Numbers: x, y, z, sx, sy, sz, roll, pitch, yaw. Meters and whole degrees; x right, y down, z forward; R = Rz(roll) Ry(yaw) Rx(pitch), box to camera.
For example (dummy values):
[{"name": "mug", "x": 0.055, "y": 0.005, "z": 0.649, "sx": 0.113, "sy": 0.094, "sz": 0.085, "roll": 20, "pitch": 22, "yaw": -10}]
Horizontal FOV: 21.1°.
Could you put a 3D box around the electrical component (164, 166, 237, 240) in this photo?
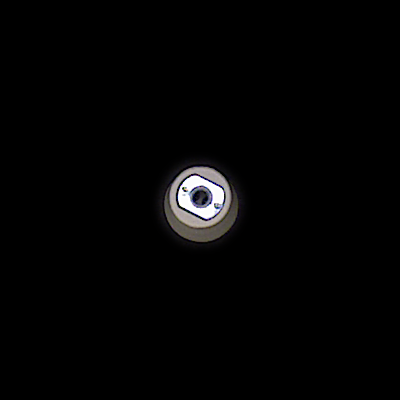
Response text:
[{"name": "electrical component", "x": 0.000, "y": 0.000, "z": 0.626, "sx": 0.044, "sy": 0.044, "sz": 0.065, "roll": 0, "pitch": -5, "yaw": 1}]
